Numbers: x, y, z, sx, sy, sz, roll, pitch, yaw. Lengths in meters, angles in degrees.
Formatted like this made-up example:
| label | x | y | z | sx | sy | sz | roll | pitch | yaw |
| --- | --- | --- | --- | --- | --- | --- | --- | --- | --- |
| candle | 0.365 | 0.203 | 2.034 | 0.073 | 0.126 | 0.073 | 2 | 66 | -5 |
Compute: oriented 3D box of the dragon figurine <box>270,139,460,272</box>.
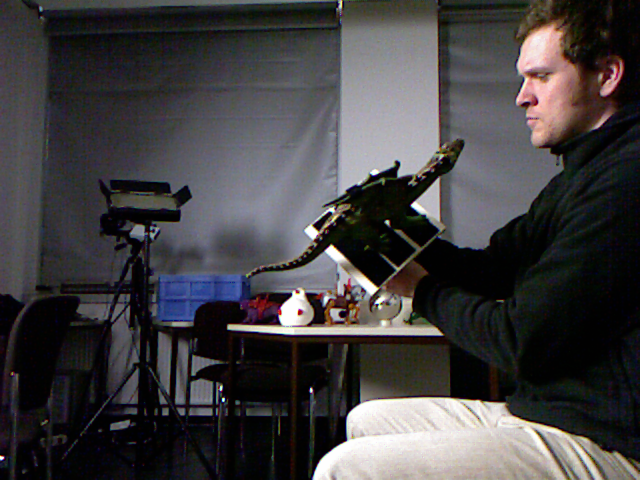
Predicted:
| label | x | y | z | sx | sy | sz | roll | pitch | yaw |
| --- | --- | --- | --- | --- | --- | --- | --- | --- | --- |
| dragon figurine | 0.079 | -0.061 | 0.930 | 0.413 | 0.124 | 0.240 | -29 | -21 | -5 |
